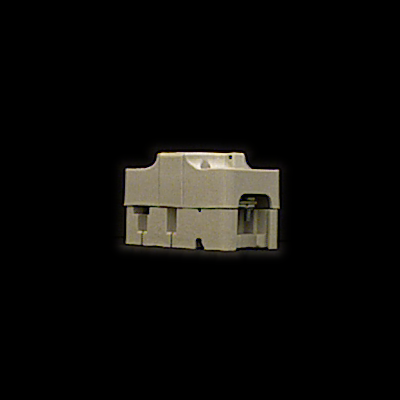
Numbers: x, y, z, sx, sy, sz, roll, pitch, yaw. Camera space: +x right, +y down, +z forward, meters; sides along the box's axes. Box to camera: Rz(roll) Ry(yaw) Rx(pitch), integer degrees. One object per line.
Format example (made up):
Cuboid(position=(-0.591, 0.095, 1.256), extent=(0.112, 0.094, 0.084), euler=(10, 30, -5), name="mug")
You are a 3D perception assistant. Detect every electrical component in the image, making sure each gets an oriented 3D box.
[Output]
Cuboid(position=(0.000, 0.000, 0.656), extent=(0.088, 0.056, 0.051), euler=(2, 1, 44), name="electrical component")
